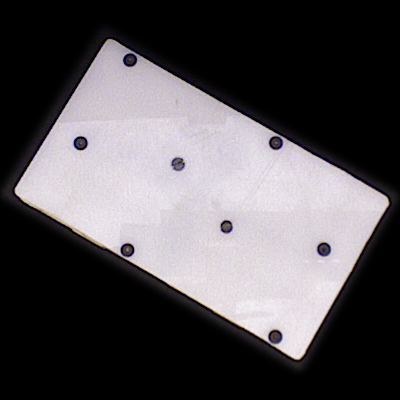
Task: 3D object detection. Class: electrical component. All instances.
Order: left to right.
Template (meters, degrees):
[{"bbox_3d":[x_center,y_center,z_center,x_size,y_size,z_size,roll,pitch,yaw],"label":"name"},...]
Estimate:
[{"bbox_3d":[0.000,0.000,0.626,0.186,0.106,0.060,30,-6,4],"label":"electrical component"}]
